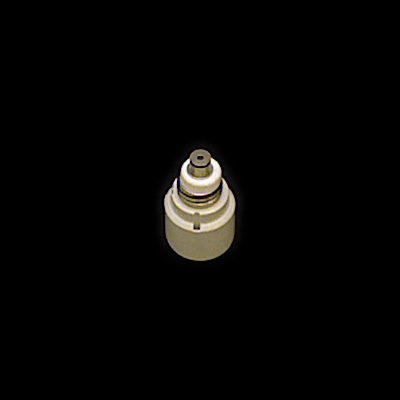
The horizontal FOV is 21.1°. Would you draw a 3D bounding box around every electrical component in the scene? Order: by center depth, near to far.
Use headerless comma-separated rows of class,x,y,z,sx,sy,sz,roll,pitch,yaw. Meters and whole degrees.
electrical component,0.000,0.000,0.622,0.040,0.040,0.079,0,-37,-1
